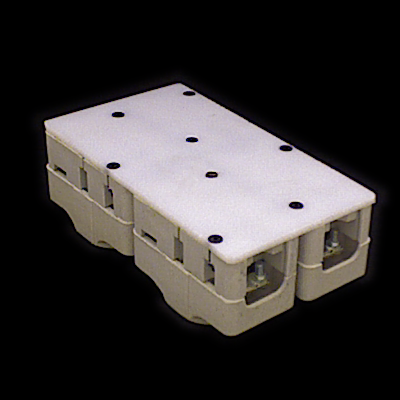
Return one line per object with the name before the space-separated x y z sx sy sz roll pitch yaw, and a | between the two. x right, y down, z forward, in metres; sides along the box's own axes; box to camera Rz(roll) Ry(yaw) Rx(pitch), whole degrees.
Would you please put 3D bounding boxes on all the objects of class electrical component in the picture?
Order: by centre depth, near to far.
electrical component | 0.000 0.000 0.633 0.105 0.061 0.184 -21 37 -32
